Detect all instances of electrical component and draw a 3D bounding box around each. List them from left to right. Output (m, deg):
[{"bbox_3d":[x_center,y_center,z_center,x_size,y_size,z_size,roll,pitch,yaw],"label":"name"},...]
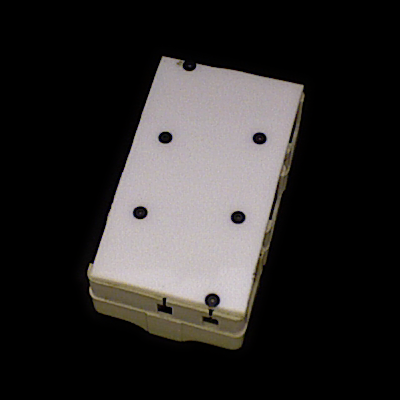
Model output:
[{"bbox_3d":[0.000,0.000,0.629,0.089,0.149,0.062,13,-26,7],"label":"electrical component"}]
